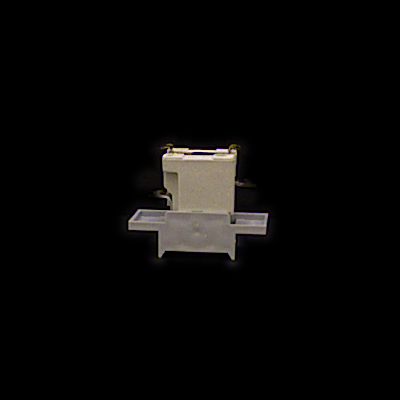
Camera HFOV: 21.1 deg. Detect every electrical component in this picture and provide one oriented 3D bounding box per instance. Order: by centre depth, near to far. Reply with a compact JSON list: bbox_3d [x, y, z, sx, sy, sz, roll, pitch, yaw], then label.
[{"bbox_3d":[0.000,0.000,0.643,0.081,0.064,0.042,2,11,4],"label":"electrical component"}]
